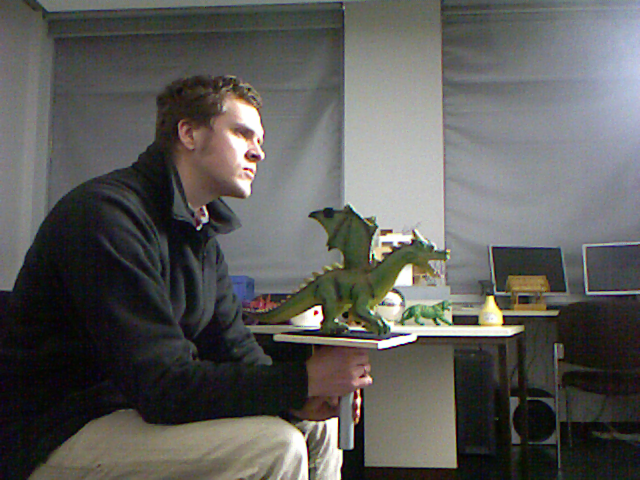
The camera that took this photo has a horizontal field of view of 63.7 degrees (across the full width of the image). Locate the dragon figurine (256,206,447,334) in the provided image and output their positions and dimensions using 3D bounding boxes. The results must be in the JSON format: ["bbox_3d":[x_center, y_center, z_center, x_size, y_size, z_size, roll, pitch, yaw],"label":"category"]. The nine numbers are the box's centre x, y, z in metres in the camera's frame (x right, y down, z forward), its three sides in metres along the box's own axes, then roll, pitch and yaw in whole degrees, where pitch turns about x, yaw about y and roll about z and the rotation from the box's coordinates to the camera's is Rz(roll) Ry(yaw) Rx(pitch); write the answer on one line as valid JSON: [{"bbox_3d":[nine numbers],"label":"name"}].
[{"bbox_3d":[0.036,0.056,0.983,0.410,0.244,0.122,-2,-2,28],"label":"dragon figurine"}]
